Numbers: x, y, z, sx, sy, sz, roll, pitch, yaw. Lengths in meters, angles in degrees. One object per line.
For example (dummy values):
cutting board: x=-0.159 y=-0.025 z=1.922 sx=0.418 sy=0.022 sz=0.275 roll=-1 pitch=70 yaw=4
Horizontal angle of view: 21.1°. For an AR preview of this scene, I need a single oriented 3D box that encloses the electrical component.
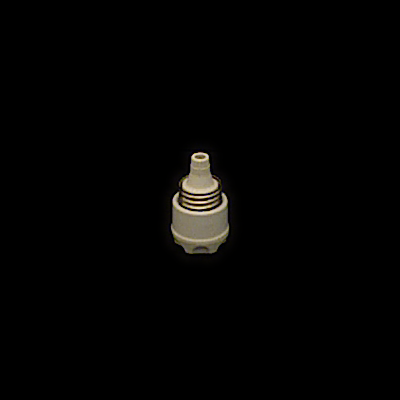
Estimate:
electrical component: x=0.000 y=0.000 z=0.645 sx=0.035 sy=0.062 sz=0.034 roll=1 pitch=31 yaw=0
